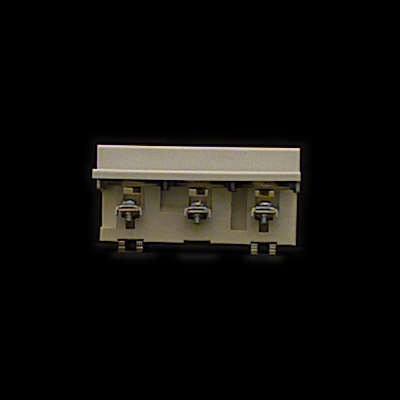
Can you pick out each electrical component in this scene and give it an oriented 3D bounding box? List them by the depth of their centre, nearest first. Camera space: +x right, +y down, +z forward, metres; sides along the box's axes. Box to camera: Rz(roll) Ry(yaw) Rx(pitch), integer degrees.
[{"bbox_3d":[0.000,0.000,0.664,0.121,0.063,0.079,1,-1,3],"label":"electrical component"}]
